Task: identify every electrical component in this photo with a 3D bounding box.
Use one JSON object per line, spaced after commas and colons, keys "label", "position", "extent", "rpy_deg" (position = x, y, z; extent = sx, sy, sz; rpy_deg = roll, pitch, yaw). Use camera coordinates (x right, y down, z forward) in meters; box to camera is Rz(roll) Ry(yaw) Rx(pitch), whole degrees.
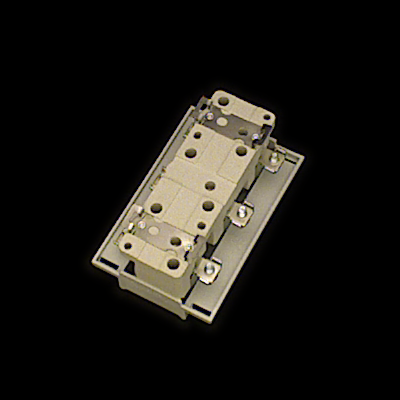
{"label": "electrical component", "position": [0.000, 0.000, 0.634], "extent": [0.078, 0.122, 0.063], "rpy_deg": [25, -24, 13]}
